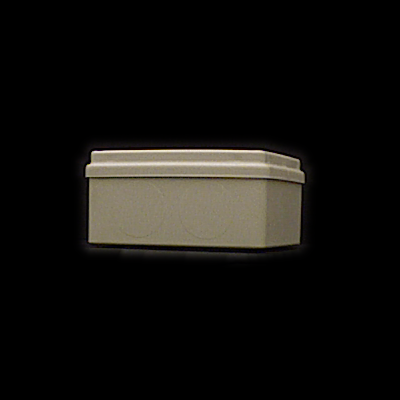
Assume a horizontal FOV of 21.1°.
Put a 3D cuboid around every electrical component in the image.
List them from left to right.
[{"bbox_3d":[0.000,0.000,0.649,0.108,0.056,0.109,1,0,17],"label":"electrical component"}]
